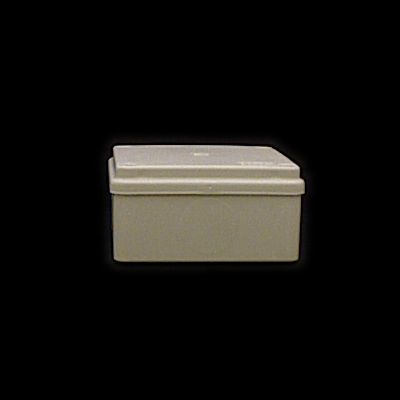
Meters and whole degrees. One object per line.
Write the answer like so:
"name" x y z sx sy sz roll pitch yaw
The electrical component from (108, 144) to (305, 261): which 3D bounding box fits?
"electrical component" 0.000 0.000 0.646 0.109 0.056 0.108 0 10 -6
